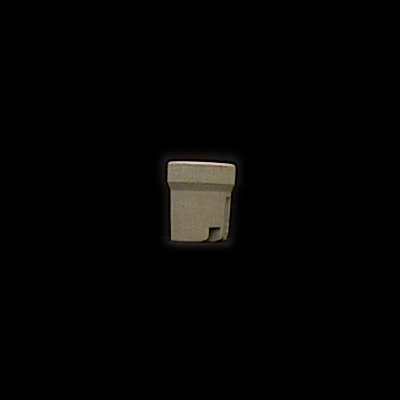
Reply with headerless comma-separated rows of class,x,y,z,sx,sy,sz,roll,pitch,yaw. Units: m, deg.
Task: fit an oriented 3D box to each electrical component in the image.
electrical component,0.000,0.000,0.648,0.040,0.046,0.040,1,1,0
